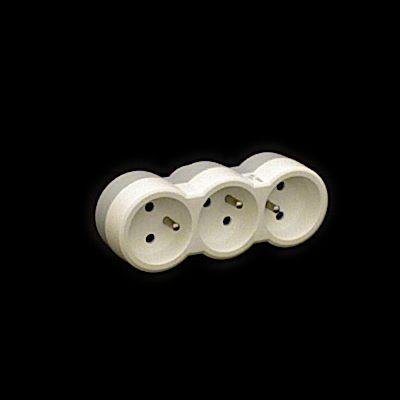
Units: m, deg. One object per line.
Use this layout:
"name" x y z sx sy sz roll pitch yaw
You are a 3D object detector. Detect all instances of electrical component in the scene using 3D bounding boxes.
"electrical component" 0.000 0.000 0.650 0.139 0.053 0.072 -9 22 -25
